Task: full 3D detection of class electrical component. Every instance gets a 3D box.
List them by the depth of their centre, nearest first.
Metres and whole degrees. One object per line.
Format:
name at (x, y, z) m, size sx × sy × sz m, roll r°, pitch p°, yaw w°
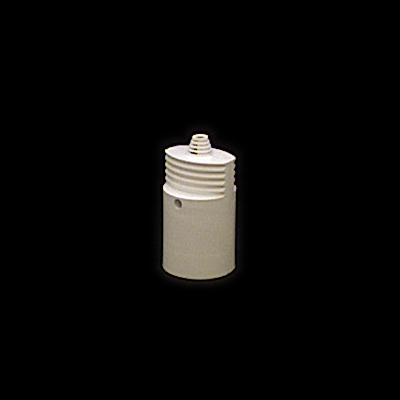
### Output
electrical component at (0.000, 0.000, 0.635) m, size 0.043 × 0.082 × 0.042 m, roll 1°, pitch 21°, yaw 0°
